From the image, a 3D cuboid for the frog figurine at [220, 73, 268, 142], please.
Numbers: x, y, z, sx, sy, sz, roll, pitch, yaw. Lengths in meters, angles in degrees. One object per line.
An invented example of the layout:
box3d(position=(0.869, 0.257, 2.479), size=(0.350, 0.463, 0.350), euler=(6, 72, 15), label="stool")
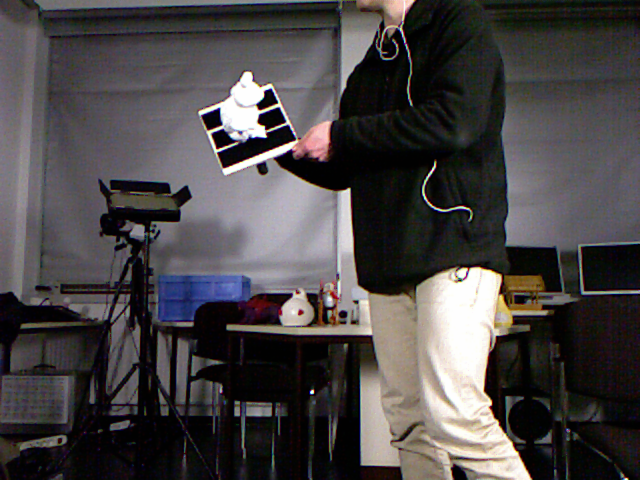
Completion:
box3d(position=(-0.192, -0.320, 1.248), size=(0.123, 0.140, 0.157), euler=(-1, -23, 6), label="frog figurine")
